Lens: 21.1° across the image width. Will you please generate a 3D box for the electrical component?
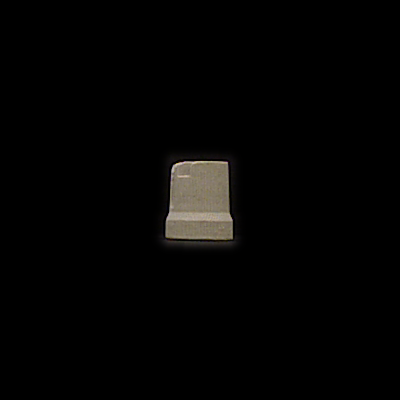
[{"bbox_3d":[0.000,0.000,0.650,0.040,0.046,0.040,2,1,0],"label":"electrical component"}]
